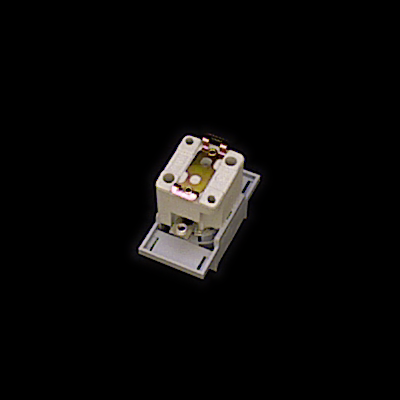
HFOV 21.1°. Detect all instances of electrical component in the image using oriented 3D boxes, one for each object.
[{"bbox_3d":[0.000,0.000,0.627,0.042,0.081,0.064,21,-35,15],"label":"electrical component"}]
